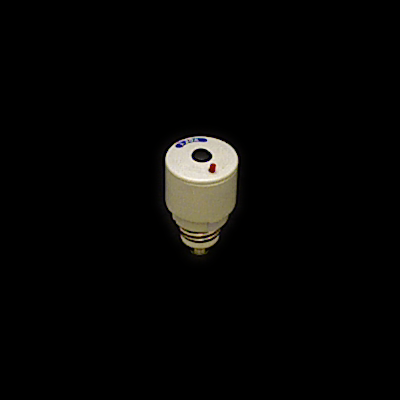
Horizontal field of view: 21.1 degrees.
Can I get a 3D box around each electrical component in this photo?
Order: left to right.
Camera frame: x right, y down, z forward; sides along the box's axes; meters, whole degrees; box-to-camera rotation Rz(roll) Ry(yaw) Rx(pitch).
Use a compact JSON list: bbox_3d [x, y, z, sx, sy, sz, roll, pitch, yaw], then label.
[{"bbox_3d":[0.000,0.000,0.622,0.040,0.079,0.039,1,42,0],"label":"electrical component"}]
